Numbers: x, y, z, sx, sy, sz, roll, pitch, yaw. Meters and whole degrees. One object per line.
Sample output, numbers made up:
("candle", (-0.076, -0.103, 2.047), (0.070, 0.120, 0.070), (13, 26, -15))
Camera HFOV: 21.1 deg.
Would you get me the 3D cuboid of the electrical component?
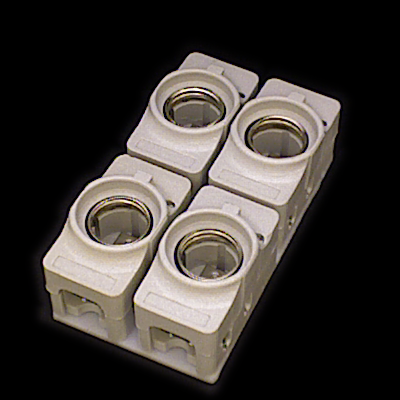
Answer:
("electrical component", (0.000, 0.000, 0.628), (0.105, 0.186, 0.060), (21, -35, 15))
